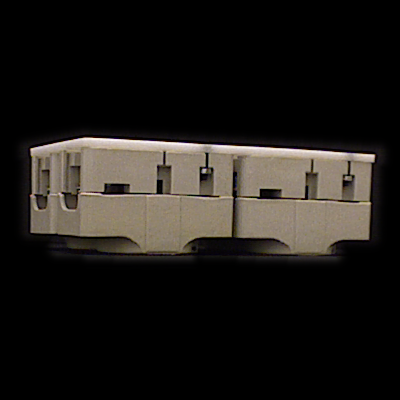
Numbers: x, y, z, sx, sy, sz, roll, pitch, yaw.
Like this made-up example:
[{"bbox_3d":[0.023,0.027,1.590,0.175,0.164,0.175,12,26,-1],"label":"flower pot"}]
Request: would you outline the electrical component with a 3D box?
[{"bbox_3d":[0.000,0.000,0.649,0.187,0.060,0.105,1,-1,-26],"label":"electrical component"}]
